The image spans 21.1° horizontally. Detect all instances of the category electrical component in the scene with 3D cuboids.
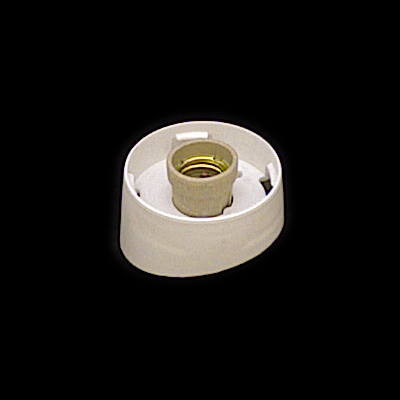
[{"bbox_3d":[0.000,0.000,0.630,0.099,0.065,0.098,0,42,0],"label":"electrical component"}]
